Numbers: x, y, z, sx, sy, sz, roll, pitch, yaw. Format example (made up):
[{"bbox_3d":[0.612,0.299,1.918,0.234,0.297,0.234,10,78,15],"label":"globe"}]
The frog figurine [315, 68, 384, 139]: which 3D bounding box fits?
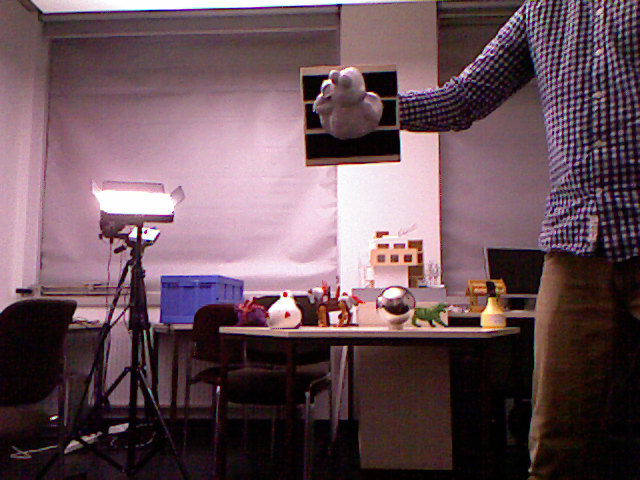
[{"bbox_3d":[0.059,-0.267,1.015,0.138,0.123,0.159,14,-1,2],"label":"frog figurine"}]
